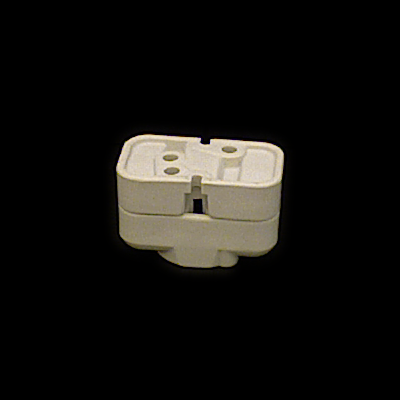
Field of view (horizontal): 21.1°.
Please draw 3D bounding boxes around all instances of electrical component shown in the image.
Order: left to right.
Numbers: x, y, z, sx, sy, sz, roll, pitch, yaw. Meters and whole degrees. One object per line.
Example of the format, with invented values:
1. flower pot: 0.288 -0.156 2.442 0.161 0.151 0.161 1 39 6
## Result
1. electrical component: 0.000 0.000 0.639 0.095 0.060 0.053 4 32 4
